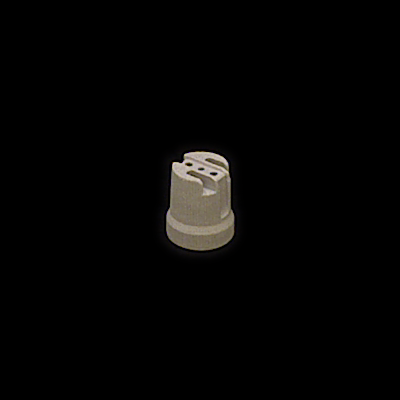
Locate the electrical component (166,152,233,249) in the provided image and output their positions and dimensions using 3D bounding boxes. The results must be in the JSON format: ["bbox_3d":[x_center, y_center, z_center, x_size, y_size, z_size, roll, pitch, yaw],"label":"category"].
[{"bbox_3d":[0.000,0.000,0.637,0.040,0.046,0.040,0,32,0],"label":"electrical component"}]
